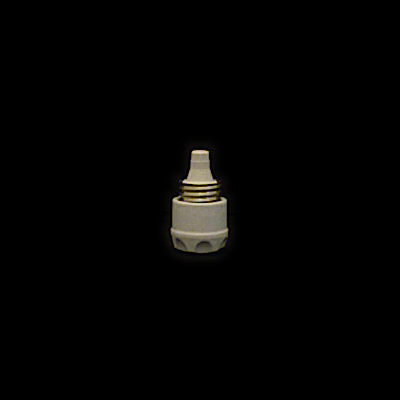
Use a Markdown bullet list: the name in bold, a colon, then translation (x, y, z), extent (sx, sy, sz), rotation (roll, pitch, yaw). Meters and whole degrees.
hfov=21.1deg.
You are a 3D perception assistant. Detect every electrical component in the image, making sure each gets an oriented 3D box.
- **electrical component**: translation (0.000, 0.000, 0.655), extent (0.035, 0.062, 0.035), rotation (1, 10, 0)
